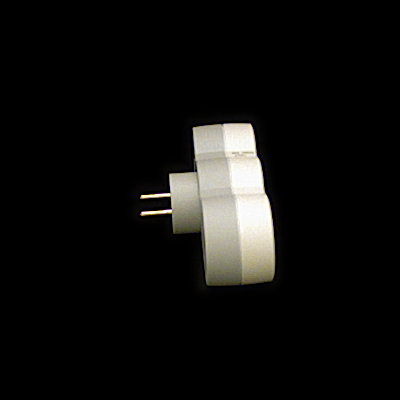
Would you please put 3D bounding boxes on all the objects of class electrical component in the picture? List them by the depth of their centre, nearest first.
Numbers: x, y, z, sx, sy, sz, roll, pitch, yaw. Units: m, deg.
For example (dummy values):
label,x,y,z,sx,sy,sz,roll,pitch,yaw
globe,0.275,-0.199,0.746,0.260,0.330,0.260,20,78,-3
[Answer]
label,x,y,z,sx,sy,sz,roll,pitch,yaw
electrical component,0.000,0.000,0.645,0.074,0.053,0.136,-3,32,-3
